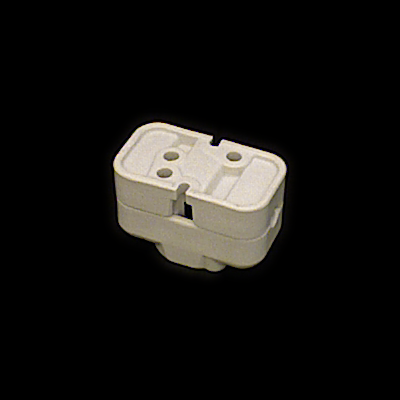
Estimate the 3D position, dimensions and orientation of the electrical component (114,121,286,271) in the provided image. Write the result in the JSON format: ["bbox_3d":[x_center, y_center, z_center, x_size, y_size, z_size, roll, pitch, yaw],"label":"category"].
[{"bbox_3d":[0.000,0.000,0.636,0.094,0.060,0.053,17,45,16],"label":"electrical component"}]
